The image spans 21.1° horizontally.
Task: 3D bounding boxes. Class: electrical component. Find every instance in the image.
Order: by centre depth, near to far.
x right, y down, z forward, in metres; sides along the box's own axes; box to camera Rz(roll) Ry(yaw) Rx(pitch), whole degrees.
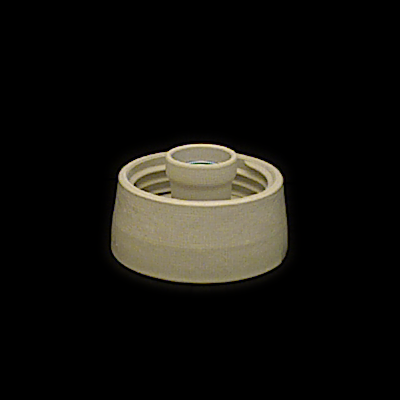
[{"bbox_3d":[0.000,0.000,0.646,0.108,0.061,0.106,1,21,0],"label":"electrical component"}]
